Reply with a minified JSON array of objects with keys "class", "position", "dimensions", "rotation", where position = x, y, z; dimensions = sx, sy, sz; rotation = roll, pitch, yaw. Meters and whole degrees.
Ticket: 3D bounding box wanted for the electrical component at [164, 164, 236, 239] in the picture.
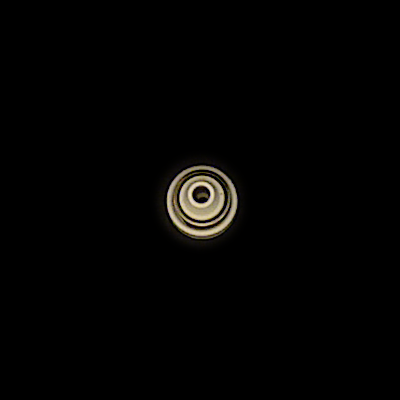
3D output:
[{"class":"electrical component","position":[0.000,0.000,0.635],"dimensions":[0.043,0.043,0.062],"rotation":[0,-6,1]}]
